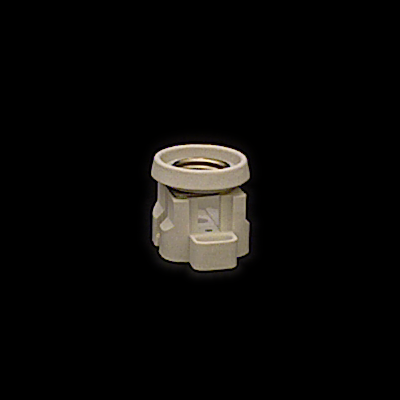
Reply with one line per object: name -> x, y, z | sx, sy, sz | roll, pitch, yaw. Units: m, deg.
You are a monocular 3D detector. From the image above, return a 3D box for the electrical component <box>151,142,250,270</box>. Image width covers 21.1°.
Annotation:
electrical component -> 0.000, 0.000, 0.640 | 0.058, 0.057, 0.077 | -5, 22, -14
